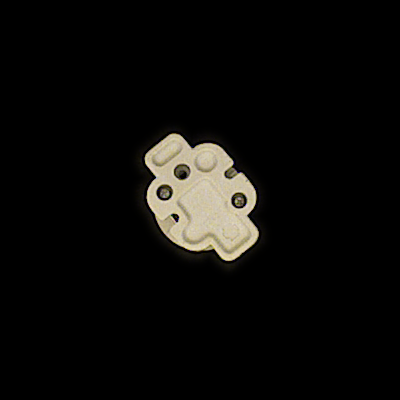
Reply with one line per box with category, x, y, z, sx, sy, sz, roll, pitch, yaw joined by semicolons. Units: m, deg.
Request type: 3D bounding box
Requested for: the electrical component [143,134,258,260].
electrical component;0.000;0.000;0.637;0.058;0.078;0.056;-40;-3;-4
